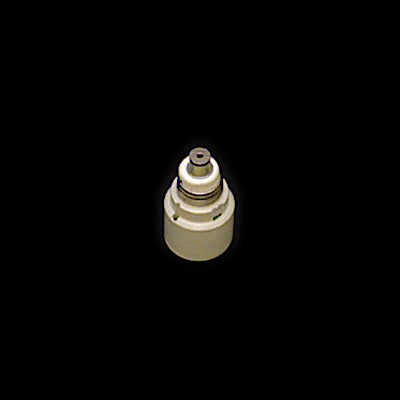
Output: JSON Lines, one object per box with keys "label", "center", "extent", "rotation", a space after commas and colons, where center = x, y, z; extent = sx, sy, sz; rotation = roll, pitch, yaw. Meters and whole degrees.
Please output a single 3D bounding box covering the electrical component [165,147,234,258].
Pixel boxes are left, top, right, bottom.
{"label": "electrical component", "center": [0.000, 0.000, 0.620], "extent": [0.040, 0.040, 0.078], "rotation": [0, -39, -1]}
